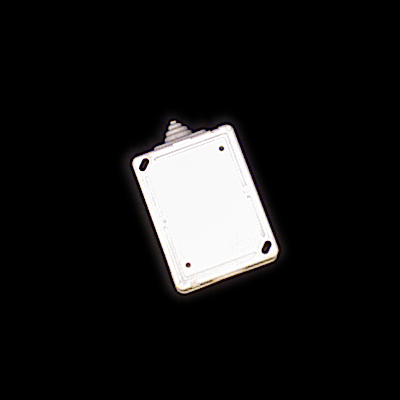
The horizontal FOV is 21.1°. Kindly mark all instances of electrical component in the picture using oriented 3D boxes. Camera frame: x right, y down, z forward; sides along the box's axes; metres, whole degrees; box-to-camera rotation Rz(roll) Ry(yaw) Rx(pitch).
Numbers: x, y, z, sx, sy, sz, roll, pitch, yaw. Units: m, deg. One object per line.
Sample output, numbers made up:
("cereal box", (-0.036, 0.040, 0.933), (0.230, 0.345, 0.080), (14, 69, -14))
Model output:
("electrical component", (0.000, 0.000, 0.629), (0.062, 0.096, 0.061), (-20, -7, -2))
